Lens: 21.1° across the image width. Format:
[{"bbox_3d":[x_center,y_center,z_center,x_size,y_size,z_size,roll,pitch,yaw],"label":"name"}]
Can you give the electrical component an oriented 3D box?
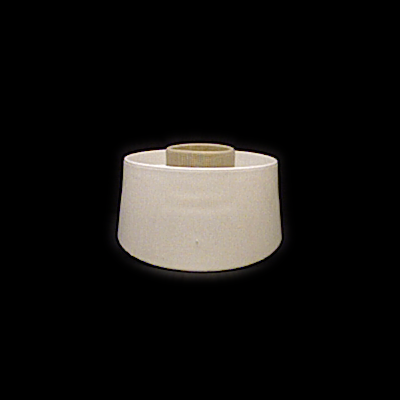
[{"bbox_3d":[0.000,0.000,0.644,0.099,0.064,0.098,1,11,0],"label":"electrical component"}]
